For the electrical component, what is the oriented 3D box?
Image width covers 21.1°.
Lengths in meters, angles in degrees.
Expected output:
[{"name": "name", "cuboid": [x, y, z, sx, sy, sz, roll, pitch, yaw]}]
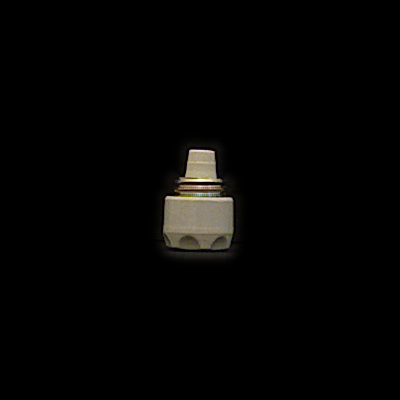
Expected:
[{"name": "electrical component", "cuboid": [0.000, 0.000, 0.656, 0.043, 0.062, 0.043, 2, 3, 0]}]
